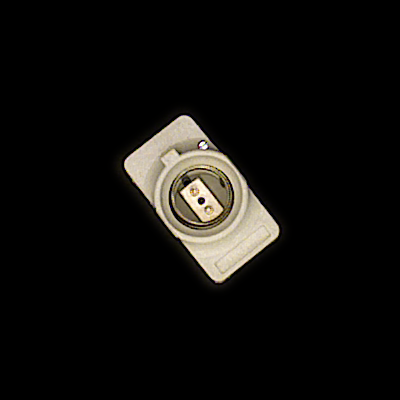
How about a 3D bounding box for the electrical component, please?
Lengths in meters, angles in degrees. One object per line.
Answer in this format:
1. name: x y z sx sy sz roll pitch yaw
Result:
1. electrical component: 0.000 0.000 0.637 0.050 0.089 0.055 -39 -5 -3
